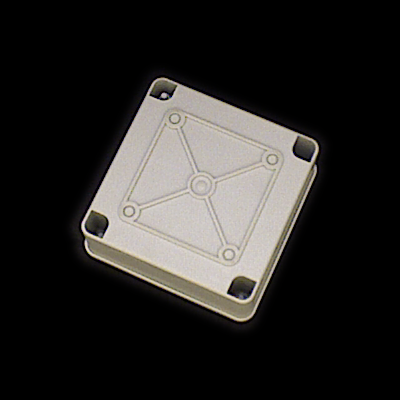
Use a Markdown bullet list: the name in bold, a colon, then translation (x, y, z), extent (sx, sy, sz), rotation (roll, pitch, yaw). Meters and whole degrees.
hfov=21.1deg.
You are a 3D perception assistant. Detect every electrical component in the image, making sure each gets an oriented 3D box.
- **electrical component**: translation (0.000, 0.000, 0.628), extent (0.108, 0.109, 0.056), rotation (23, -16, 7)
